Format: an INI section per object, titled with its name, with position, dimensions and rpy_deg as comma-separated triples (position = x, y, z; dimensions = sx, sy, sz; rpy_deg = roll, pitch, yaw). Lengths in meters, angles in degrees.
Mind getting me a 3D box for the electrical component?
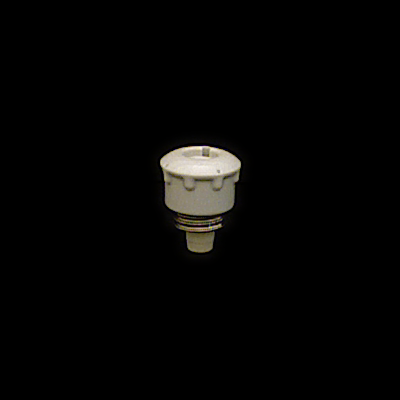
[electrical component]
position = 0.000, 0.000, 0.646
dimensions = 0.048, 0.063, 0.047
rpy_deg = 1, 22, 0
